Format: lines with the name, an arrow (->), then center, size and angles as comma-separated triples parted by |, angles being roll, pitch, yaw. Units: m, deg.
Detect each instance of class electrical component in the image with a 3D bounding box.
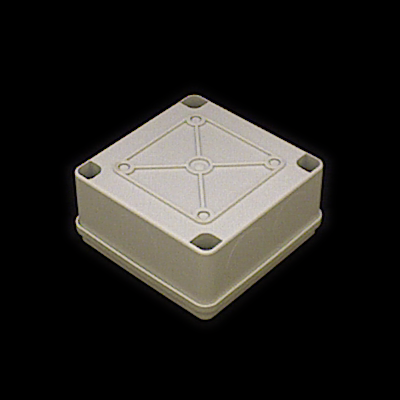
electrical component -> 0.000, 0.000, 0.630 | 0.108, 0.056, 0.108 | 31, 50, 30
